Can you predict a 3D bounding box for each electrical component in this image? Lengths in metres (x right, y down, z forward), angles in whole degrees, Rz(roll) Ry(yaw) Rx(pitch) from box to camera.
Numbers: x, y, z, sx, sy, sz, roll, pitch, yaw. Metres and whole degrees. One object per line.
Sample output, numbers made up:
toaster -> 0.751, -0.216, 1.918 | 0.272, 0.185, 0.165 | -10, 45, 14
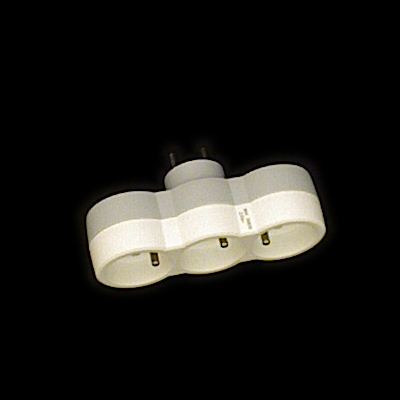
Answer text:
electrical component -> 0.000, 0.000, 0.639 | 0.138, 0.073, 0.052 | -11, -28, -6
